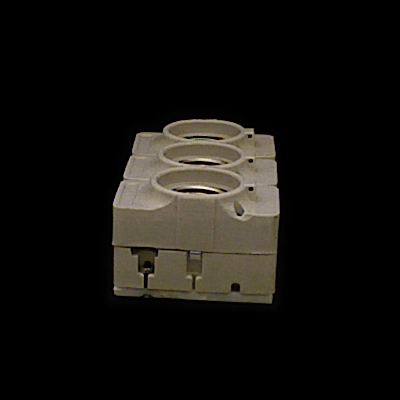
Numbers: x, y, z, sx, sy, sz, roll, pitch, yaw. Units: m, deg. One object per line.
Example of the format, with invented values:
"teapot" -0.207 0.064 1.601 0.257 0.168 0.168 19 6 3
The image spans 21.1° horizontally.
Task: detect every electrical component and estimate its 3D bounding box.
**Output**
"electrical component" 0.000 0.000 0.646 0.089 0.063 0.147 2 21 1
